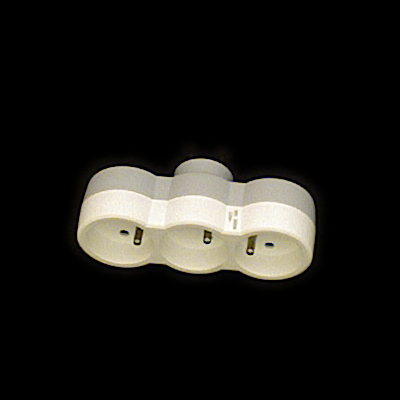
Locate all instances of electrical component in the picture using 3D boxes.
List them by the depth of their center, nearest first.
[{"bbox_3d":[0.000,0.000,0.641,0.138,0.073,0.052,5,-38,3],"label":"electrical component"}]
